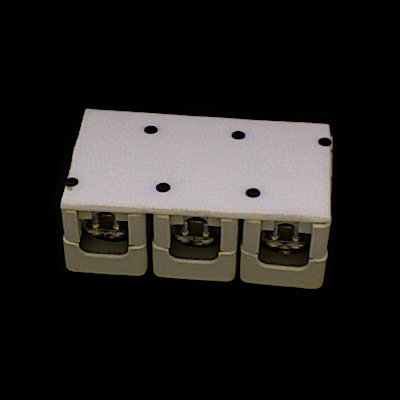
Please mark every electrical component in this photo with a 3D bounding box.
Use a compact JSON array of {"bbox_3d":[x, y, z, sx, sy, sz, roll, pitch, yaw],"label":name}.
[{"bbox_3d":[0.000,0.000,0.638,0.150,0.063,0.087,4,42,3],"label":"electrical component"}]
